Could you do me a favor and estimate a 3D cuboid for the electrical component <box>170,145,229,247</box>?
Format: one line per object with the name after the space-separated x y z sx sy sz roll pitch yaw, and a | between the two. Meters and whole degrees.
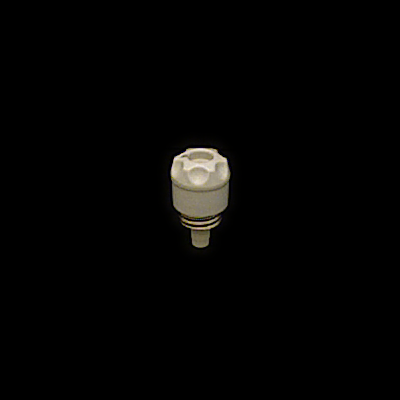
0.000 0.000 0.642 0.035 0.062 0.034 1 32 0 | electrical component
